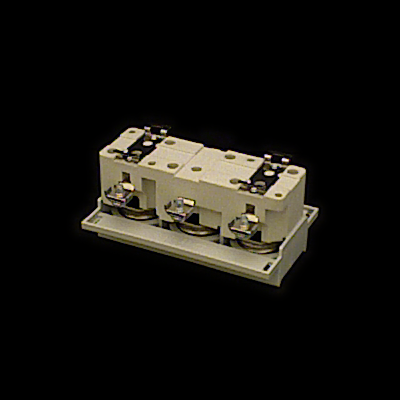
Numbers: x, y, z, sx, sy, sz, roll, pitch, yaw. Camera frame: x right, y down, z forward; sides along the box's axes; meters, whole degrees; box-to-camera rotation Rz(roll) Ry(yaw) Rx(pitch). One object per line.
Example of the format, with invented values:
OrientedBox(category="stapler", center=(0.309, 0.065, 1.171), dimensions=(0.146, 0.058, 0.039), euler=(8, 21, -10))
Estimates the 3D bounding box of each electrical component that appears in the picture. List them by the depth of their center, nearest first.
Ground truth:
OrientedBox(category="electrical component", center=(0.000, 0.000, 0.644), dimensions=(0.120, 0.064, 0.078), euler=(15, 34, 21))
